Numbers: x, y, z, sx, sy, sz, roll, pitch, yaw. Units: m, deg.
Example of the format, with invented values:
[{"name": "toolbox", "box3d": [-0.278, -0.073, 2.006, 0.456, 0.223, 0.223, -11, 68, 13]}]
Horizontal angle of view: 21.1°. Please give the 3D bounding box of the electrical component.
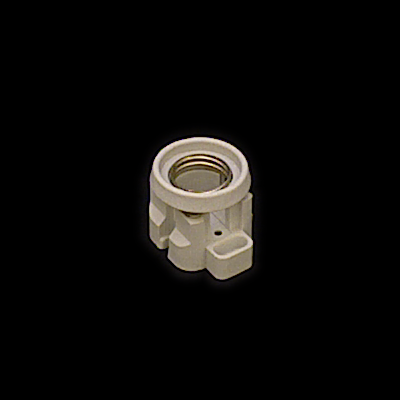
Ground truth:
[{"name": "electrical component", "box3d": [0.000, 0.000, 0.632, 0.058, 0.057, 0.077, -25, 48, -25]}]
